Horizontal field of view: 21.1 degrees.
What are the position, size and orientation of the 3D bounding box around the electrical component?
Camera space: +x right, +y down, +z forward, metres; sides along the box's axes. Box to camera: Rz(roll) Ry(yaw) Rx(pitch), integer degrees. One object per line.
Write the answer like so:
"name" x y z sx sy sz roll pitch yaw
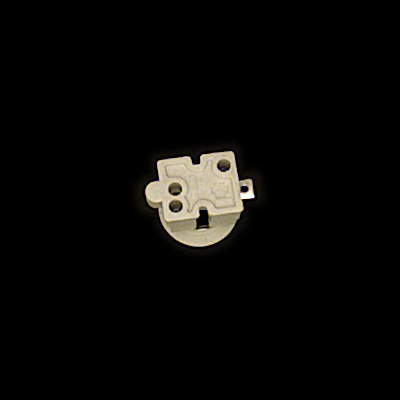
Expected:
"electrical component" 0.000 0.000 0.637 0.066 0.048 0.055 -8 -17 -3
